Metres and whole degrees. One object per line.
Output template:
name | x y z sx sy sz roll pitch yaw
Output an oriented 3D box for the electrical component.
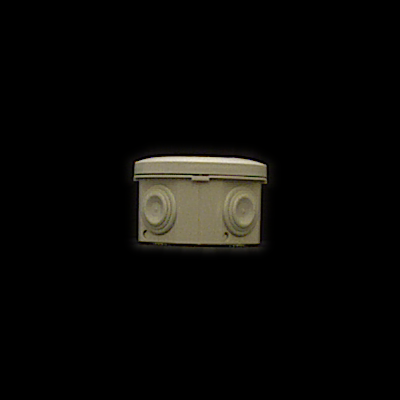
electrical component | 0.000 0.000 0.647 0.080 0.051 0.080 1 0 0
